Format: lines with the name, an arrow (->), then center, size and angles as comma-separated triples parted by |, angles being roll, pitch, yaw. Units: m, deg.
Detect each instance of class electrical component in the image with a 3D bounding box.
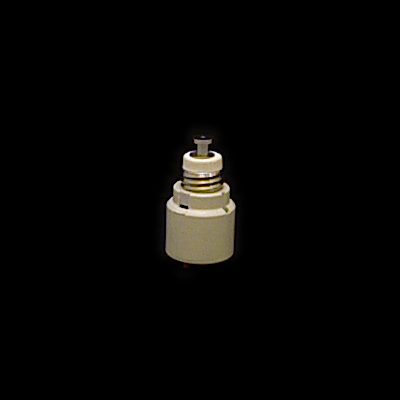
electrical component -> 0.000, 0.000, 0.636 | 0.040, 0.079, 0.039 | 2, 21, 0
